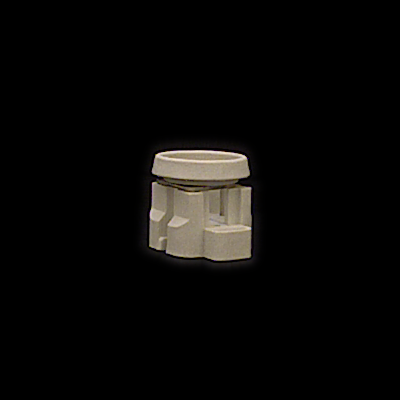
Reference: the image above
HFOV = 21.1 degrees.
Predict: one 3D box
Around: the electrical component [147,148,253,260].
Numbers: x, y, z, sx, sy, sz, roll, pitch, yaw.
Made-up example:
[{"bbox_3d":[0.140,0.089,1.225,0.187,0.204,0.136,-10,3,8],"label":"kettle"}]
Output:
[{"bbox_3d":[0.000,0.000,0.645,0.058,0.057,0.077,-6,13,-32],"label":"electrical component"}]
